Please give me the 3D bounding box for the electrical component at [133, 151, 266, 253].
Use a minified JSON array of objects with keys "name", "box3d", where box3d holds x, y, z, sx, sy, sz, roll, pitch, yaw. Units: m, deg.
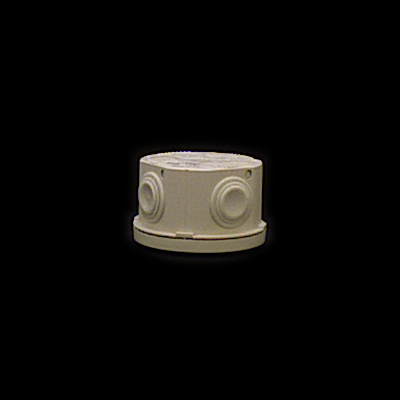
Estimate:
[{"name":"electrical component","box3d":[0.000,0.000,0.644,0.080,0.051,0.079,1,11,0]}]
